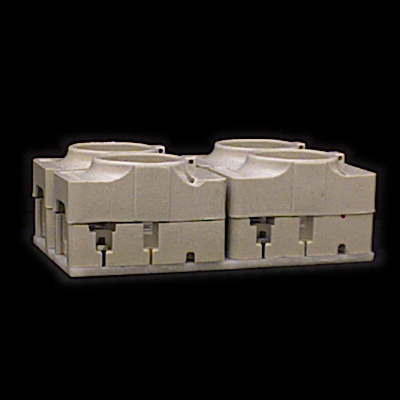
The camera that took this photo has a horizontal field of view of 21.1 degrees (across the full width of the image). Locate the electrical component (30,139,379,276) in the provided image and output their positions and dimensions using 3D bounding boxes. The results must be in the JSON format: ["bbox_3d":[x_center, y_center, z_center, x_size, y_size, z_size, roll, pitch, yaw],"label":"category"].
[{"bbox_3d":[0.000,0.000,0.645,0.186,0.060,0.104,-2,10,-20],"label":"electrical component"}]
